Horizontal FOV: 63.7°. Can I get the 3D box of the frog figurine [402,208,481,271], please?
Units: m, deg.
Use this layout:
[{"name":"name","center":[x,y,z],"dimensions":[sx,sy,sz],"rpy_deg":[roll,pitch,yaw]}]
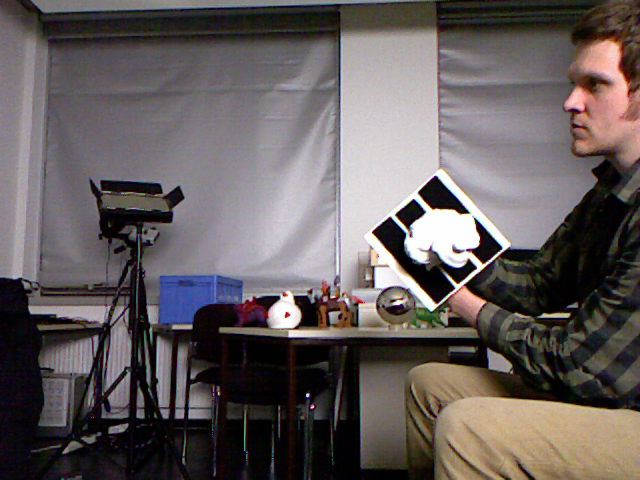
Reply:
[{"name":"frog figurine","center":[0.226,-0.003,0.969],"dimensions":[0.138,0.123,0.159],"rpy_deg":[-23,-3,1]}]
